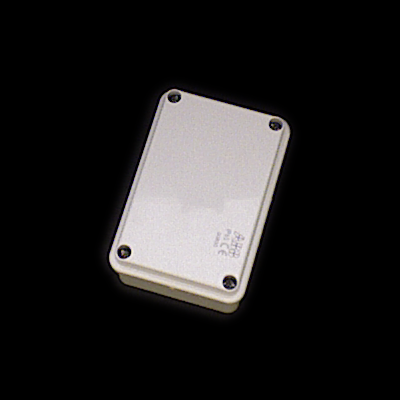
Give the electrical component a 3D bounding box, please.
[{"bbox_3d":[0.000,0.000,0.627,0.078,0.113,0.057,16,-16,5],"label":"electrical component"}]
